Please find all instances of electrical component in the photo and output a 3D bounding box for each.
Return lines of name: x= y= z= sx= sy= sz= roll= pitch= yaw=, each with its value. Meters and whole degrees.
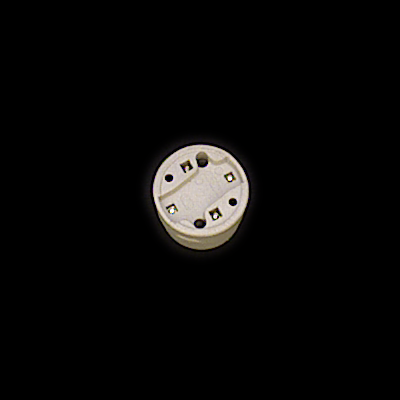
electrical component: x=0.000 y=0.000 z=0.635 sx=0.055 sy=0.056 sz=0.047 roll=0 pitch=-17 yaw=0
